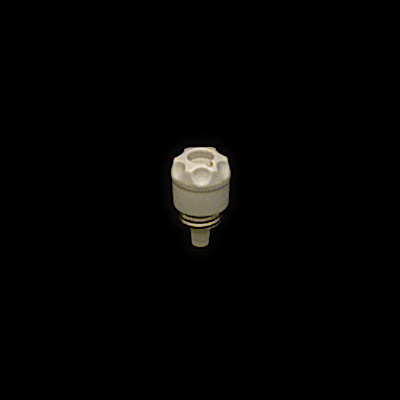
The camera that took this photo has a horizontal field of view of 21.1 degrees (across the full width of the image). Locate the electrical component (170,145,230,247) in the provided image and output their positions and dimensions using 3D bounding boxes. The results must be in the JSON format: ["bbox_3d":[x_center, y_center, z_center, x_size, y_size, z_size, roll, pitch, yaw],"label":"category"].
[{"bbox_3d":[0.000,0.000,0.639,0.035,0.062,0.035,1,33,0],"label":"electrical component"}]
